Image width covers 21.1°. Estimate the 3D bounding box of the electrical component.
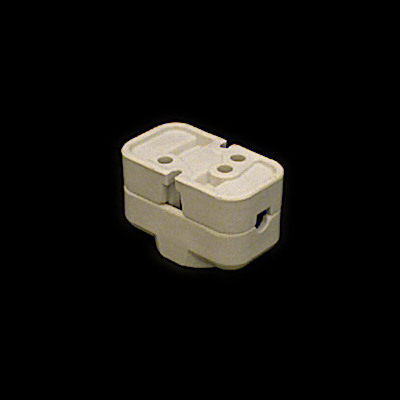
[{"bbox_3d":[0.000,0.000,0.644,0.094,0.060,0.054,25,39,33],"label":"electrical component"}]
